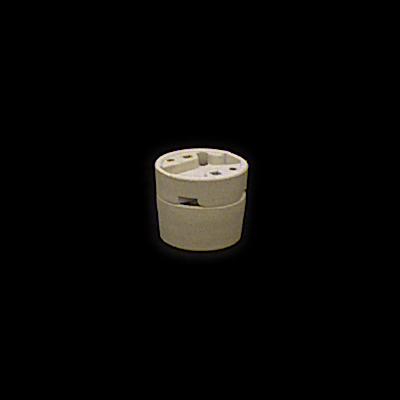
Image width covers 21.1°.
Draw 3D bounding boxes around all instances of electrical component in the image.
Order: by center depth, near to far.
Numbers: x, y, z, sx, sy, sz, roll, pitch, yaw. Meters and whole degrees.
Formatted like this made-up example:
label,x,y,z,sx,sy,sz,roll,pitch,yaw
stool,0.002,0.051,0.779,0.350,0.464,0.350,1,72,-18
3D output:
label,x,y,z,sx,sy,sz,roll,pitch,yaw
electrical component,0.000,0.000,0.640,0.055,0.047,0.055,1,21,0
